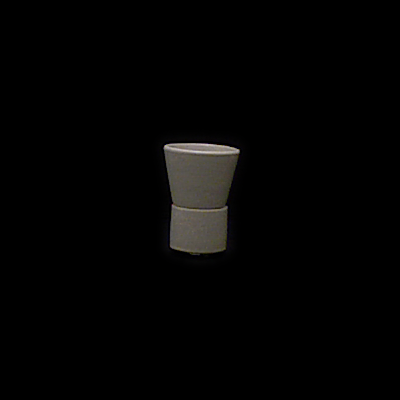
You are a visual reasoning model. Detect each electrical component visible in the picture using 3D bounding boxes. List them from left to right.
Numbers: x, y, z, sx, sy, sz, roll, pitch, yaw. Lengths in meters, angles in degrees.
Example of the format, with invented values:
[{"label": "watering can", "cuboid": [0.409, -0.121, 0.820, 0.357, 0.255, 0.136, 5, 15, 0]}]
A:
[{"label": "electrical component", "cuboid": [0.000, 0.000, 0.646, 0.044, 0.066, 0.044, 2, 10, 0]}]
